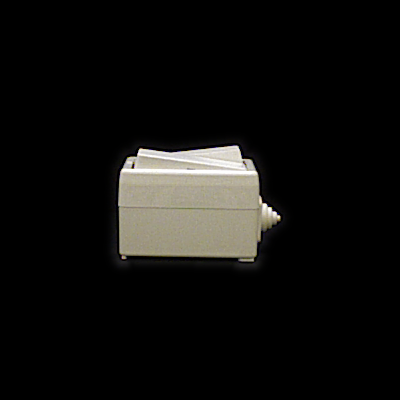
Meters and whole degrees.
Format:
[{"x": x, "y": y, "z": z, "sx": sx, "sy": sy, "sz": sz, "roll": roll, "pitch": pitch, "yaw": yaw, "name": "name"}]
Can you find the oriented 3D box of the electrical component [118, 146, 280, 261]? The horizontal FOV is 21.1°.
[{"x": 0.000, "y": 0.000, "z": 0.645, "sx": 0.096, "sy": 0.061, "sz": 0.061, "roll": 1, "pitch": 11, "yaw": 0, "name": "electrical component"}]
